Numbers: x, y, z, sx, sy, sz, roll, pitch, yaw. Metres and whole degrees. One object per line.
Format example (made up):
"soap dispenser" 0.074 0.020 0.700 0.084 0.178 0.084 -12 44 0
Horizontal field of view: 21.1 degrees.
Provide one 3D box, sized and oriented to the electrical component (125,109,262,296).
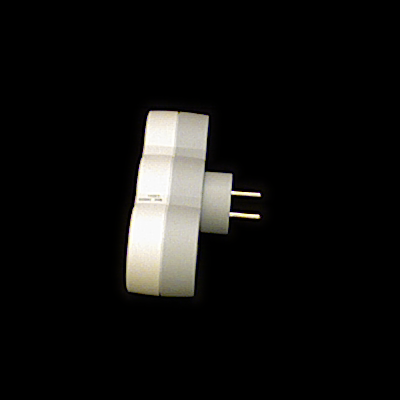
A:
"electrical component" 0.000 0.000 0.640 0.074 0.052 0.137 4 43 1
